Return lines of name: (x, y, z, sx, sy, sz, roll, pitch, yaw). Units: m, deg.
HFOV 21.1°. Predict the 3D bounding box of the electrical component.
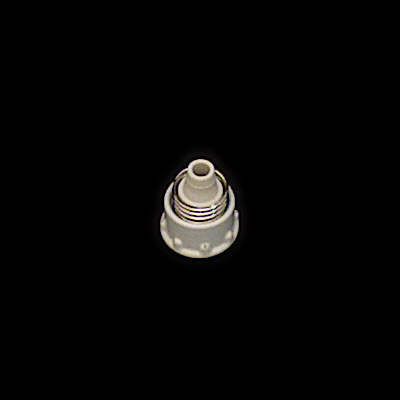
electrical component: (0.000, 0.000, 0.635, 0.048, 0.048, 0.062, 0, -37, -1)
